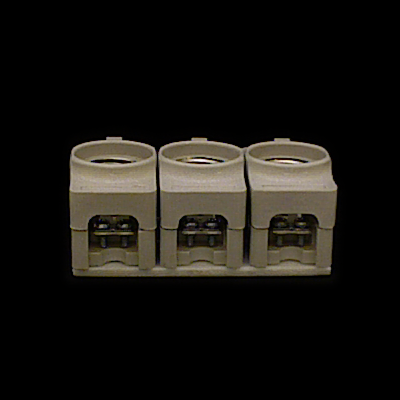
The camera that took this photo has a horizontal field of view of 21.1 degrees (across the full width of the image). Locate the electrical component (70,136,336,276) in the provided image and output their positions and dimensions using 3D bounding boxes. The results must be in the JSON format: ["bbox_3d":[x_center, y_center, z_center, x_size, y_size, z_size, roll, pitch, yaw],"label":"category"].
[{"bbox_3d":[0.000,0.000,0.646,0.150,0.063,0.088,0,20,-3],"label":"electrical component"}]
